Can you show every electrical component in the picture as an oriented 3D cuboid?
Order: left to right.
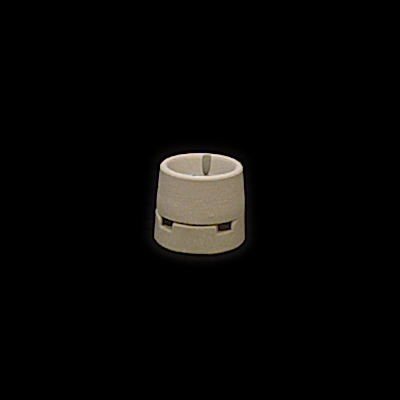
[{"bbox_3d":[0.000,0.000,0.643,0.055,0.047,0.055,1,20,0],"label":"electrical component"}]
